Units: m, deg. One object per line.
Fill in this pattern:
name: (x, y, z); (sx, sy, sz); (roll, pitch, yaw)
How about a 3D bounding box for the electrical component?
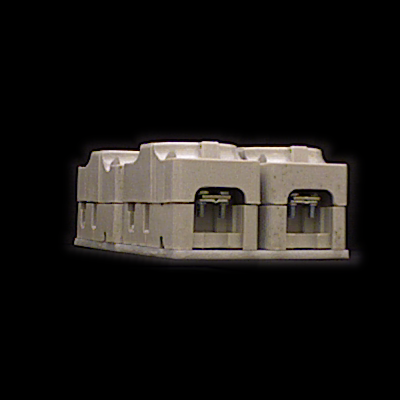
electrical component: (0.000, 0.000, 0.650); (0.106, 0.060, 0.186); (1, 0, -23)
